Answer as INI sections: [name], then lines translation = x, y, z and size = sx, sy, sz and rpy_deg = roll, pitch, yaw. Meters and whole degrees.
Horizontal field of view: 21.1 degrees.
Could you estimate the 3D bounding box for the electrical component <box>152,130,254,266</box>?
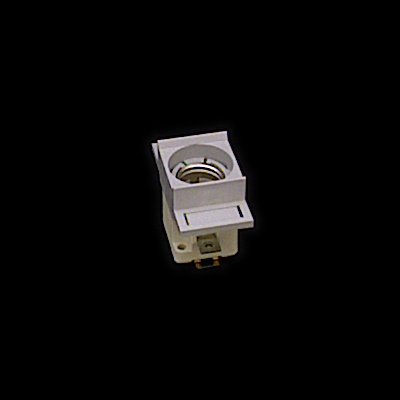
[electrical component]
translation = 0.000, 0.000, 0.627
size = 0.042, 0.064, 0.080
rpy_deg = -7, 42, -11
